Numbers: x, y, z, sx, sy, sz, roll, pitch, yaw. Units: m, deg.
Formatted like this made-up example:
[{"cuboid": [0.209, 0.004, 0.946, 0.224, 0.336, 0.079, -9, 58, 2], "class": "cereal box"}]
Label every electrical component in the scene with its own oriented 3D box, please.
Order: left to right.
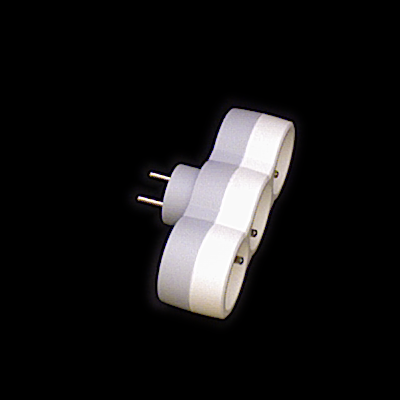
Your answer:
[{"cuboid": [0.000, 0.000, 0.630, 0.073, 0.138, 0.052, 15, -35, 13], "class": "electrical component"}]
